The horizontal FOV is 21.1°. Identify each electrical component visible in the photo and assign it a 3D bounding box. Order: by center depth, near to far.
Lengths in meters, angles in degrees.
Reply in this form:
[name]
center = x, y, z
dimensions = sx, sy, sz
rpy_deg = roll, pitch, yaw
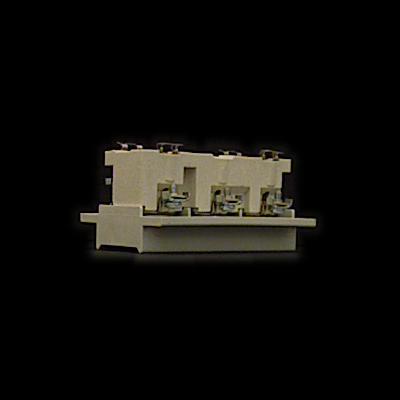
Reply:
[electrical component]
center = 0.000, 0.000, 0.655
dimensions = 0.122, 0.063, 0.078
rpy_deg = 1, 1, -41
